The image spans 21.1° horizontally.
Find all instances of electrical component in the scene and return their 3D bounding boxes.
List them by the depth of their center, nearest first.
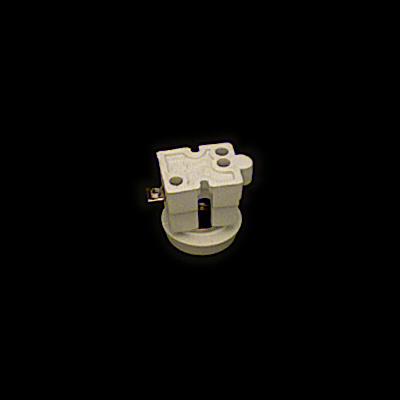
[{"bbox_3d":[0.000,0.000,0.641,0.067,0.056,0.048,-7,44,-7],"label":"electrical component"}]
